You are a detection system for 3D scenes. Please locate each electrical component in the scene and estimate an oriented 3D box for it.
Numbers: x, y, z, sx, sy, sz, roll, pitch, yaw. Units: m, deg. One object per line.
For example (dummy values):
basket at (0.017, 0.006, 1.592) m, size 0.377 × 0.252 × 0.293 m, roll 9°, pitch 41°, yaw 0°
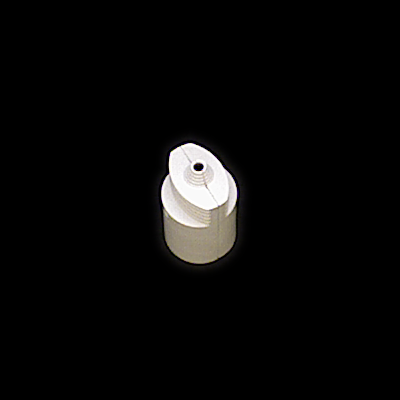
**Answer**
electrical component at (0.000, 0.000, 0.617) m, size 0.043 × 0.043 × 0.081 m, roll 0°, pitch -27°, yaw 0°
